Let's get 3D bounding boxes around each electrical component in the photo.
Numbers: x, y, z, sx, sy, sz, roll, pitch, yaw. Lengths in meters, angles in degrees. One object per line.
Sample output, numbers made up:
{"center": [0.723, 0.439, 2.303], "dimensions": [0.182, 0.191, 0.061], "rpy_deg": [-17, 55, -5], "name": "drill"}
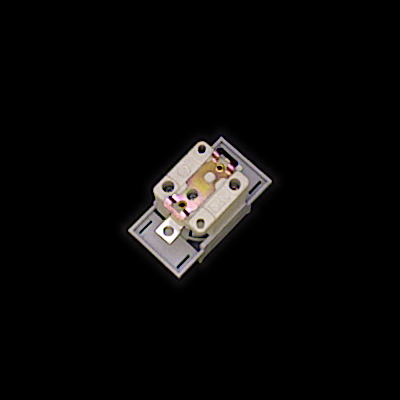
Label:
{"center": [0.000, 0.000, 0.625], "dimensions": [0.042, 0.081, 0.063], "rpy_deg": [41, -12, 11], "name": "electrical component"}
